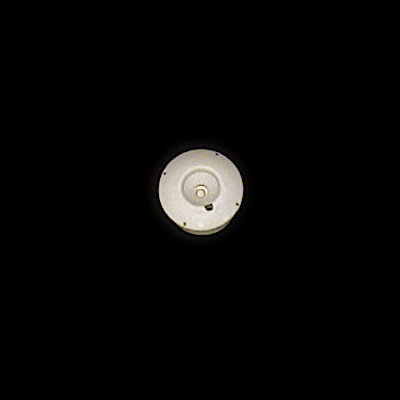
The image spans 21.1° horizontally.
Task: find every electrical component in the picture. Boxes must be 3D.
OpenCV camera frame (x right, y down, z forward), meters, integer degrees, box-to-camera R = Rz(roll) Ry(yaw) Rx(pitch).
[{"bbox_3d":[0.000,0.000,0.633,0.048,0.048,0.061,0,-16,1],"label":"electrical component"}]
